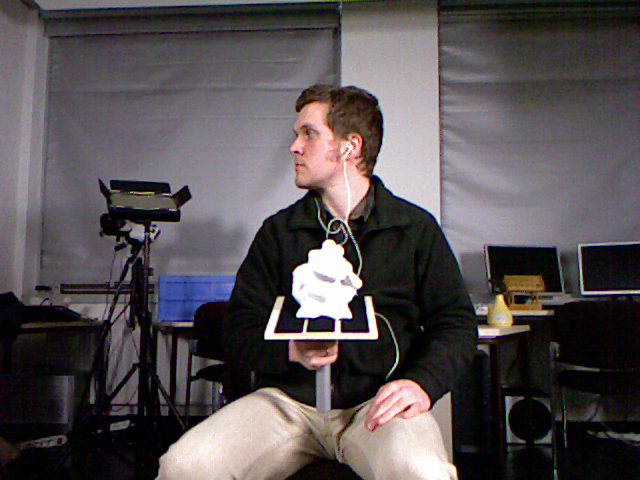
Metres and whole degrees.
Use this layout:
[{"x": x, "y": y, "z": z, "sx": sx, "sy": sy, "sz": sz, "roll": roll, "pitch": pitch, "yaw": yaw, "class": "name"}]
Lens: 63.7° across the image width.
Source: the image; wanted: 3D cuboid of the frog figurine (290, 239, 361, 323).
[{"x": 0.009, "y": 0.069, "z": 0.990, "sx": 0.138, "sy": 0.158, "sz": 0.125, "roll": 6, "pitch": 16, "yaw": 23, "class": "frog figurine"}]
